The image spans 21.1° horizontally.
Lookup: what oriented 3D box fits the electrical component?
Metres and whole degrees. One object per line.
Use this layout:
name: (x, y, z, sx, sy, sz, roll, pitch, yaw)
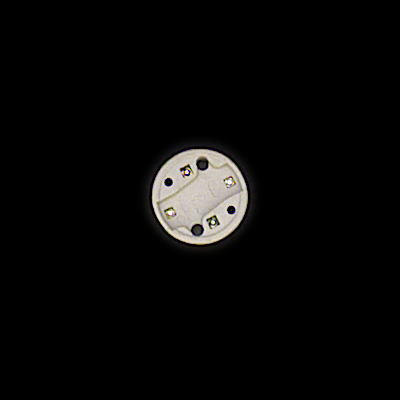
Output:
electrical component: (0.000, 0.000, 0.635, 0.055, 0.056, 0.047, 0, -7, 0)
